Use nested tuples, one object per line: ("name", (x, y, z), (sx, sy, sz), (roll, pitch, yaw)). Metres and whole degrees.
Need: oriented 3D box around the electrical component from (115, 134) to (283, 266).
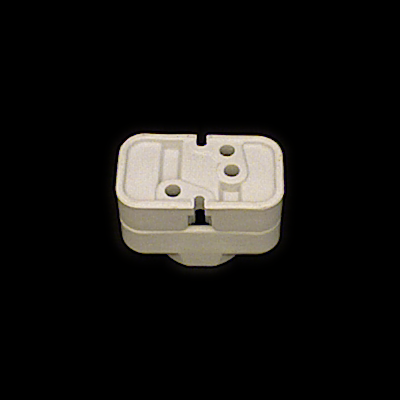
("electrical component", (0.000, 0.000, 0.637), (0.095, 0.053, 0.059), (1, -37, 1))
